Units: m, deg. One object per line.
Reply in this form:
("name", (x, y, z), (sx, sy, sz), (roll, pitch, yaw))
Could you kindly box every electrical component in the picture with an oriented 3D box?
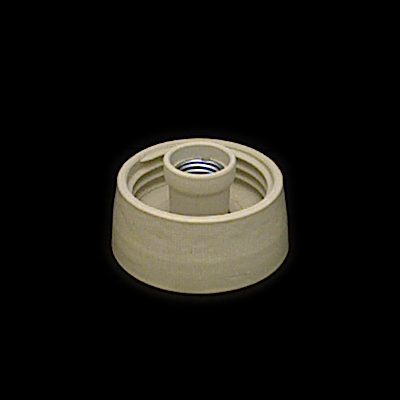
("electrical component", (0.000, 0.000, 0.642), (0.108, 0.061, 0.106), (1, 32, 0))
